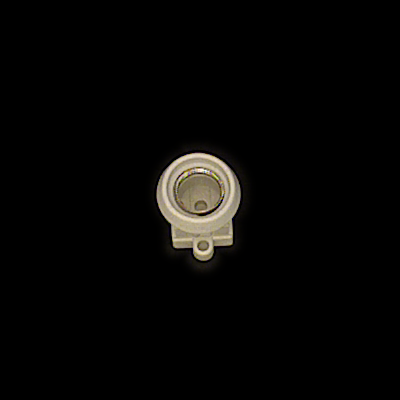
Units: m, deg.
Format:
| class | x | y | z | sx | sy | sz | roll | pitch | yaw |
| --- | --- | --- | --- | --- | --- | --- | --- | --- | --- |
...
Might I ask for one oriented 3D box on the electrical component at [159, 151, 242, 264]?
| class | x | y | z | sx | sy | sz | roll | pitch | yaw |
| --- | --- | --- | --- | --- | --- | --- | --- | --- | --- |
| electrical component | 0.000 | 0.000 | 0.637 | 0.048 | 0.066 | 0.055 | -4 | -16 | -3 |
